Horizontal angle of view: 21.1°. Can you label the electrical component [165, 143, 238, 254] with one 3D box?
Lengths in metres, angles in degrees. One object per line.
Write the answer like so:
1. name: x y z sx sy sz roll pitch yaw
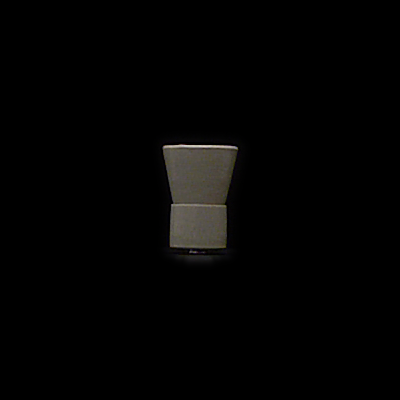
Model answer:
1. electrical component: 0.000 0.000 0.647 0.044 0.065 0.044 2 2 0
